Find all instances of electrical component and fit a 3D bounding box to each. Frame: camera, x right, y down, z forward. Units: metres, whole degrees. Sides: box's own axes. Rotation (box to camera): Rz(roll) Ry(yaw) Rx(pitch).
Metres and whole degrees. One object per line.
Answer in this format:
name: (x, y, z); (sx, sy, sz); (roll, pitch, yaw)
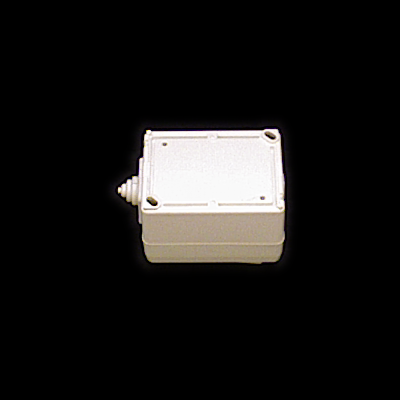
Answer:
electrical component: (0.000, 0.000, 0.631); (0.096, 0.061, 0.061); (0, -38, 0)
